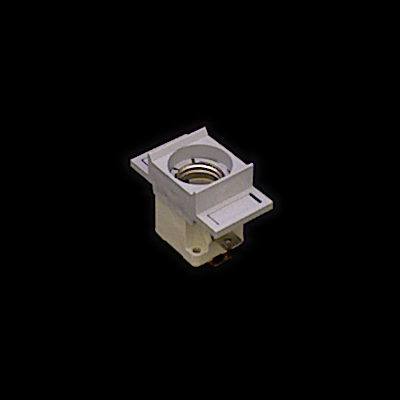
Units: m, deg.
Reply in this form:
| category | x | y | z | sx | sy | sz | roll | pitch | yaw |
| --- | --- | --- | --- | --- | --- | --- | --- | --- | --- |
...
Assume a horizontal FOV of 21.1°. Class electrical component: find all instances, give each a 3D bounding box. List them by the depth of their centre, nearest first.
| category | x | y | z | sx | sy | sz | roll | pitch | yaw |
| --- | --- | --- | --- | --- | --- | --- | --- | --- | --- |
| electrical component | 0.000 | 0.000 | 0.628 | 0.042 | 0.064 | 0.080 | -26 | 48 | -29 |
